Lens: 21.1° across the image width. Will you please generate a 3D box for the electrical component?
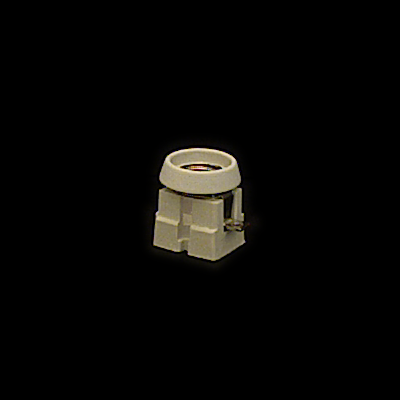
[{"bbox_3d":[0.000,0.000,0.647,0.066,0.056,0.048,13,27,28],"label":"electrical component"}]
